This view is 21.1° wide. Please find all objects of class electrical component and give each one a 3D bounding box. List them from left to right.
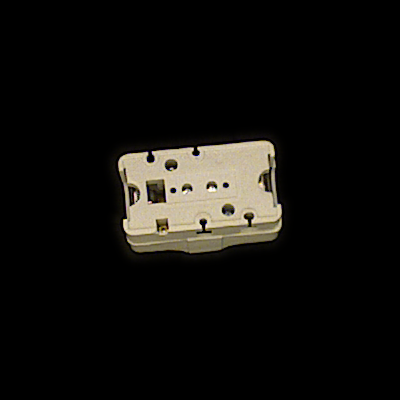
[{"bbox_3d":[0.000,0.000,0.636,0.090,0.050,0.055,-6,-15,-1],"label":"electrical component"}]
